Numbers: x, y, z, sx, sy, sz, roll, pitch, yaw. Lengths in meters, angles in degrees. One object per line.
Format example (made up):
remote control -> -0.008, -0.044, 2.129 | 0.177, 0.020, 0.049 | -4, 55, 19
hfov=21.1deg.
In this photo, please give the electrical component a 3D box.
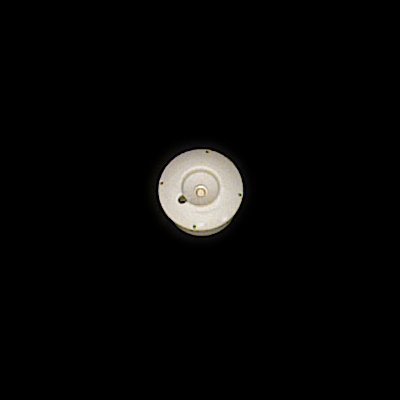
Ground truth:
electrical component -> 0.000, 0.000, 0.632 | 0.048, 0.048, 0.061 | 0, -16, 1
